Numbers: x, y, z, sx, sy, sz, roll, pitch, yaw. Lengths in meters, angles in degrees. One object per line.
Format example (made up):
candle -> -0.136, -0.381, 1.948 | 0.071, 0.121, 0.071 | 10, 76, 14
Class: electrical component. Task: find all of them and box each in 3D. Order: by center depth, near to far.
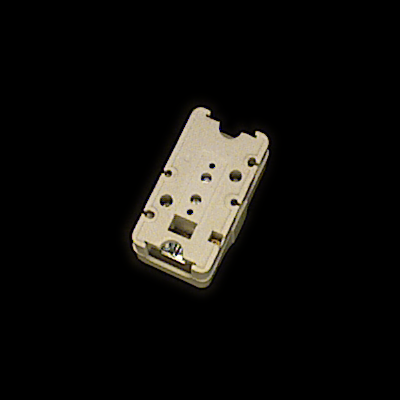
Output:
electrical component -> 0.000, 0.000, 0.636 | 0.050, 0.090, 0.055 | 24, -14, 7
